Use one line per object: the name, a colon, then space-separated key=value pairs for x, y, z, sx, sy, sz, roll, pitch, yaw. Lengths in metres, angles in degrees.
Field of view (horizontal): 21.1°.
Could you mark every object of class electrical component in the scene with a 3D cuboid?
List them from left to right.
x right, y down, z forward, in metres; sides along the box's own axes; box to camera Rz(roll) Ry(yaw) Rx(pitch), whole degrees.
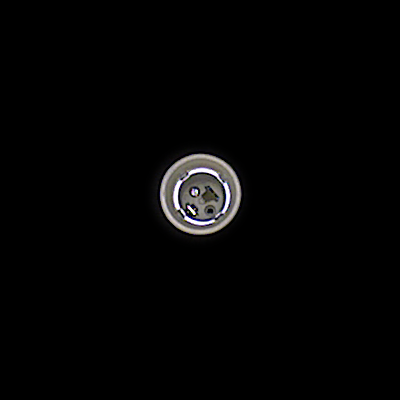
electrical component: x=0.000 y=0.000 z=0.625 sx=0.044 sy=0.044 sz=0.065 roll=0 pitch=-7 yaw=2
